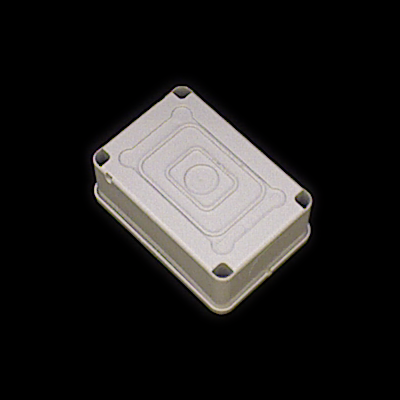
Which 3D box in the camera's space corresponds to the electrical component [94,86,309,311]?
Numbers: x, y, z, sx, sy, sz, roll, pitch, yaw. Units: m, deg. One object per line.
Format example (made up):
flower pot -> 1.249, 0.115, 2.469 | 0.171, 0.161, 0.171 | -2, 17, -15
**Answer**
electrical component -> 0.000, 0.000, 0.628 | 0.078, 0.113, 0.057 | -41, -20, -19
